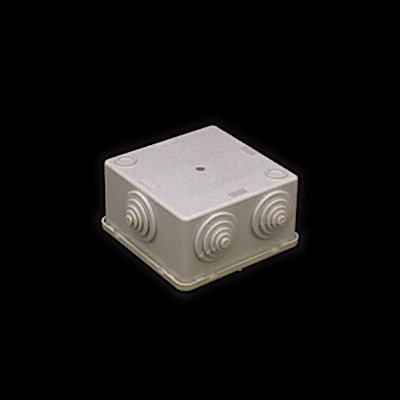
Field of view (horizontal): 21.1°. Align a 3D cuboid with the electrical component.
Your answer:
[{"bbox_3d":[0.000,0.000,0.638,0.099,0.049,0.098,-21,38,-31],"label":"electrical component"}]
